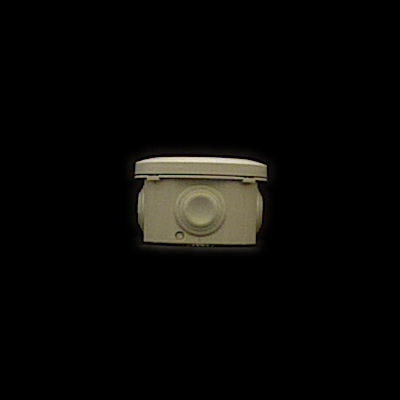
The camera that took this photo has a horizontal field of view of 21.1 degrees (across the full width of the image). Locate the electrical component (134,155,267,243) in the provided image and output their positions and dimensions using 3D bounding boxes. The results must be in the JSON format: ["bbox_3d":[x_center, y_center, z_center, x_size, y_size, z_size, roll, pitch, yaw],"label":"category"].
[{"bbox_3d":[0.000,0.000,0.651,0.080,0.051,0.080,1,0,0],"label":"electrical component"}]
